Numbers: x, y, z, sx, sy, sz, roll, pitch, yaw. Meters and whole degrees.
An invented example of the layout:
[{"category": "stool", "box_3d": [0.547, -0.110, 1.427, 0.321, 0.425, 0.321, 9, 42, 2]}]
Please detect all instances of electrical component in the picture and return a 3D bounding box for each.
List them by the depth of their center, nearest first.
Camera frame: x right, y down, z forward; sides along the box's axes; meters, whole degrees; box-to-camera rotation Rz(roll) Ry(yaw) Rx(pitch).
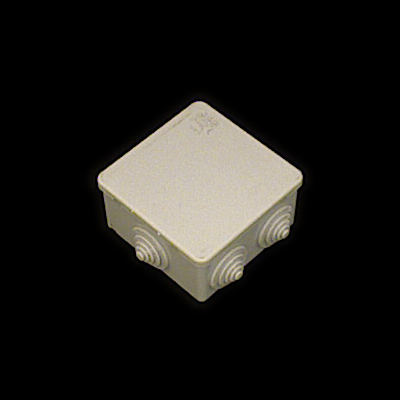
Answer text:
[{"category": "electrical component", "box_3d": [0.000, 0.000, 0.641, 0.099, 0.049, 0.100, 38, 61, 25]}]
